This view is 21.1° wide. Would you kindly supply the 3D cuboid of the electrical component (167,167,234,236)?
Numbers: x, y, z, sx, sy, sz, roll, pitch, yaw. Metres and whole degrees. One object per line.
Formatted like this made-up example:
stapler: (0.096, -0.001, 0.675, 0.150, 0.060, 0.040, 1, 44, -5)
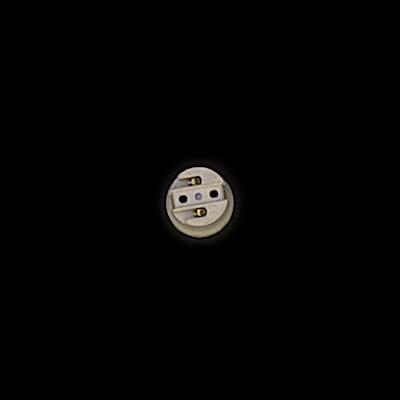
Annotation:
electrical component: (0.000, 0.000, 0.634, 0.040, 0.040, 0.046, 0, -7, 0)
